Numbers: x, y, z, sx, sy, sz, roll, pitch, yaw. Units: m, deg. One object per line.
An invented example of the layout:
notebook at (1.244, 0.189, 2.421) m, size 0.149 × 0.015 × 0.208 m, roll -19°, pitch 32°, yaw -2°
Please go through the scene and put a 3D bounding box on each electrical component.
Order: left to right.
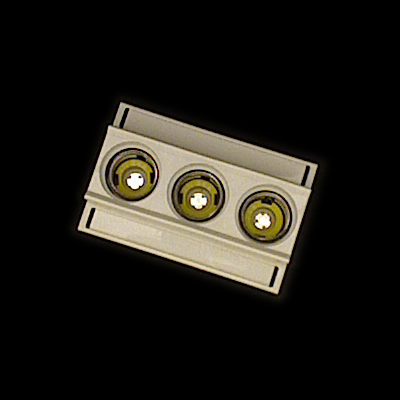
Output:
electrical component at (0.000, 0.000, 0.638) m, size 0.121 × 0.079 × 0.063 m, roll 18°, pitch -7°, yaw 2°
